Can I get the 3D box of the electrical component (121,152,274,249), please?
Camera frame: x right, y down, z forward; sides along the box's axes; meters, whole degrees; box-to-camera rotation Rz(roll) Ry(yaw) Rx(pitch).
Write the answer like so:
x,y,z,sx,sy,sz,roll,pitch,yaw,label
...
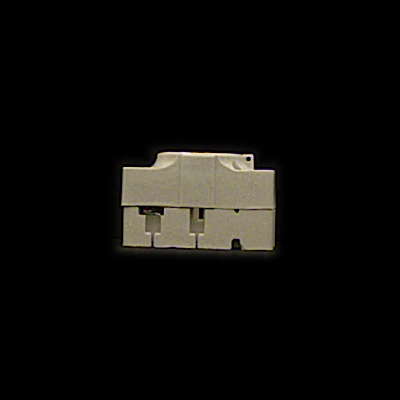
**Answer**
x,y,z,sx,sy,sz,roll,pitch,yaw,label
0.000,0.000,0.656,0.089,0.056,0.050,1,1,4,electrical component
